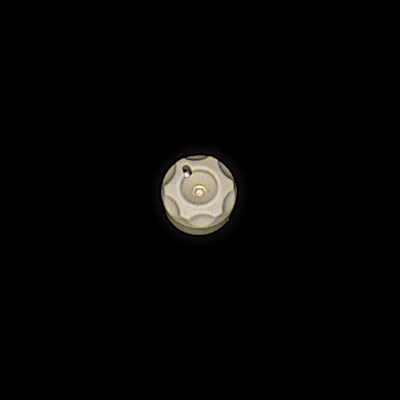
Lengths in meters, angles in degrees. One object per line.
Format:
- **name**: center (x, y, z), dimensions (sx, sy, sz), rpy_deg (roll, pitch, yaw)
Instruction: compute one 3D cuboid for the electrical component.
- **electrical component**: center (0.000, 0.000, 0.634), dimensions (0.043, 0.043, 0.061), rpy_deg (0, -15, 0)
